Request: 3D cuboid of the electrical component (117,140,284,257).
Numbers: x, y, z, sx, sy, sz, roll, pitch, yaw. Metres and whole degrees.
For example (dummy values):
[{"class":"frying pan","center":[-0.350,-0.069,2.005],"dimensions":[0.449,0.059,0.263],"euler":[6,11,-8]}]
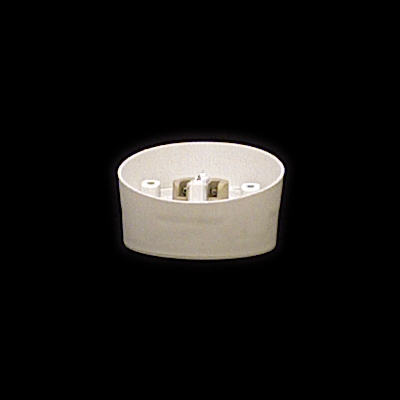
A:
[{"class":"electrical component","center":[0.000,0.000,0.644],"dimensions":[0.099,0.064,0.098],"euler":[1,9,0]}]
